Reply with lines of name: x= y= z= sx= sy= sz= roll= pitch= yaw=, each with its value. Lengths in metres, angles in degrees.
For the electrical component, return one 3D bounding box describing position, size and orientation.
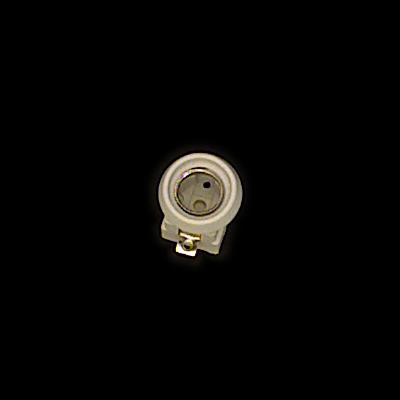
electrical component: x=0.000 y=0.000 z=0.637 sx=0.048 sy=0.067 sz=0.055 roll=14 pitch=-16 yaw=6
